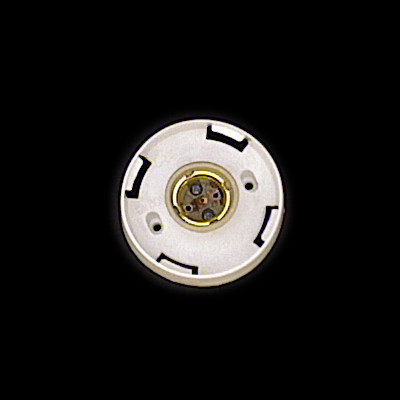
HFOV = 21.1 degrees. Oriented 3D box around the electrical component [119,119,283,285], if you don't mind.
[{"bbox_3d":[0.000,0.000,0.625,0.099,0.099,0.064,0,-7,1],"label":"electrical component"}]
